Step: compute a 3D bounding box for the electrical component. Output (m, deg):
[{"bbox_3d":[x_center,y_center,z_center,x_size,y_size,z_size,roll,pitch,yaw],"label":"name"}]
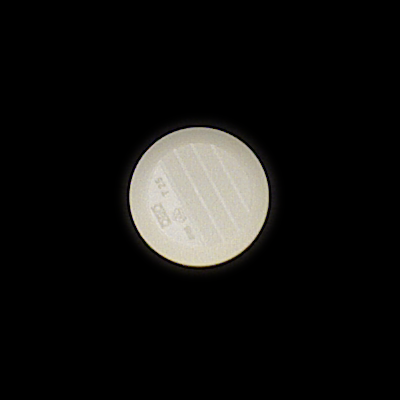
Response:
[{"bbox_3d":[0.000,0.000,0.631,0.080,0.080,0.050,0,-7,0],"label":"electrical component"}]
